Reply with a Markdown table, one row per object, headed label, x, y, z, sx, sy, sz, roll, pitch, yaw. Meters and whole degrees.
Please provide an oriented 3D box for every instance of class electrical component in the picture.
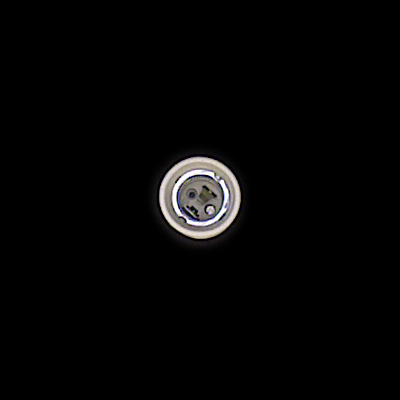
| label | x | y | z | sx | sy | sz | roll | pitch | yaw |
| --- | --- | --- | --- | --- | --- | --- | --- | --- | --- |
| electrical component | 0.000 | 0.000 | 0.628 | 0.045 | 0.045 | 0.055 | 0 | -6 | 1 |
